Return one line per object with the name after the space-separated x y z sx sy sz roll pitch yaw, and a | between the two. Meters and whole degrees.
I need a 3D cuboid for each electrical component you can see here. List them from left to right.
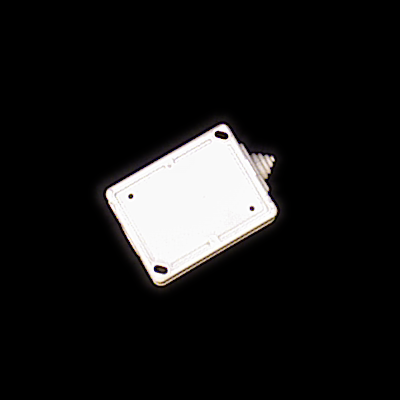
0.000 0.000 0.629 0.096 0.062 0.061 -30 -6 -4 | electrical component
